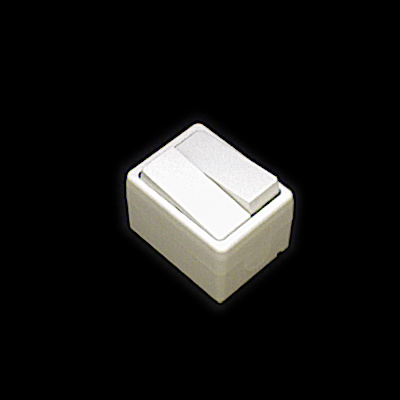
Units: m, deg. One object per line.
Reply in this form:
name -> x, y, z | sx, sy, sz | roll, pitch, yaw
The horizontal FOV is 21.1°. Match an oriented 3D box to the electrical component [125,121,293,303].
electrical component -> 0.000, 0.000, 0.629 | 0.062, 0.061, 0.096 | -38, 61, -26
